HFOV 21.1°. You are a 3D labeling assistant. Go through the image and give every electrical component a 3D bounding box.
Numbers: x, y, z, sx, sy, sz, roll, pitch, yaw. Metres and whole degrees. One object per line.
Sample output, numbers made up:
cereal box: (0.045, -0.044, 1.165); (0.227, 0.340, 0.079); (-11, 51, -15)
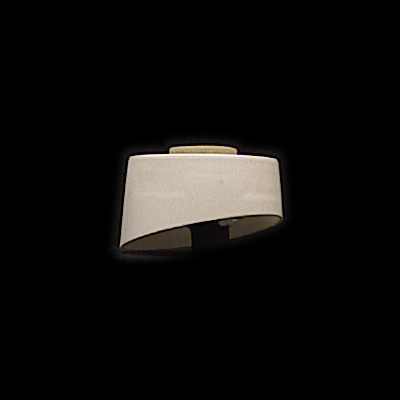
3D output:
electrical component: (0.000, 0.000, 0.650); (0.099, 0.064, 0.099); (1, 0, 0)
